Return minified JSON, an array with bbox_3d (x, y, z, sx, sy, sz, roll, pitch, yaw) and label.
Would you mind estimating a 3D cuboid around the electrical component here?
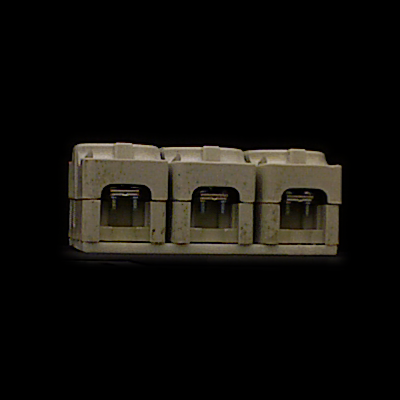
[{"bbox_3d":[0.000,0.000,0.655,0.150,0.062,0.089,1,0,-13],"label":"electrical component"}]
